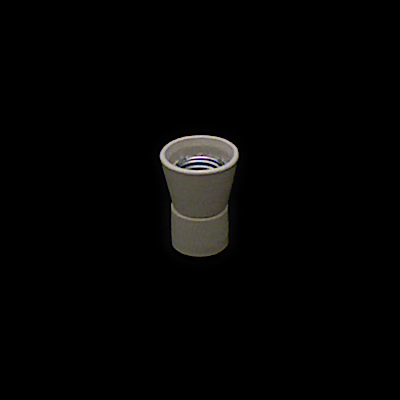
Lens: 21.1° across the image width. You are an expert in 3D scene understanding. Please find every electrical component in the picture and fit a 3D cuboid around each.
[{"bbox_3d":[0.000,0.000,0.632,0.044,0.066,0.044,0,32,0],"label":"electrical component"}]
